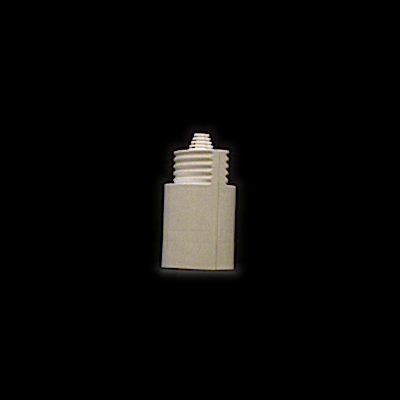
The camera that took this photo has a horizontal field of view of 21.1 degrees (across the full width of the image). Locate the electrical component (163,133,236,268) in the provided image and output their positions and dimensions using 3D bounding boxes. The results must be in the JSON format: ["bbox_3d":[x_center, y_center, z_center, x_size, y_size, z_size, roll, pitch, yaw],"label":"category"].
[{"bbox_3d":[0.000,0.000,0.649,0.043,0.081,0.043,1,1,0],"label":"electrical component"}]
